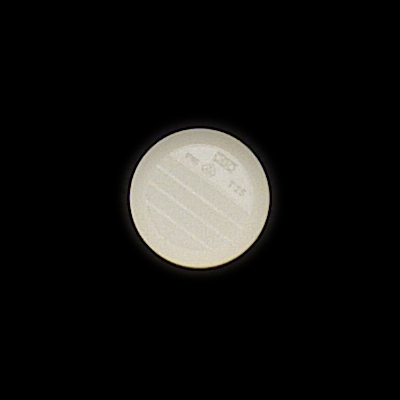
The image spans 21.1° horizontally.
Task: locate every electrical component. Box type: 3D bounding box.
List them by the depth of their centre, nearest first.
[{"bbox_3d":[0.000,0.000,0.631,0.080,0.080,0.050,0,-6,0],"label":"electrical component"}]
